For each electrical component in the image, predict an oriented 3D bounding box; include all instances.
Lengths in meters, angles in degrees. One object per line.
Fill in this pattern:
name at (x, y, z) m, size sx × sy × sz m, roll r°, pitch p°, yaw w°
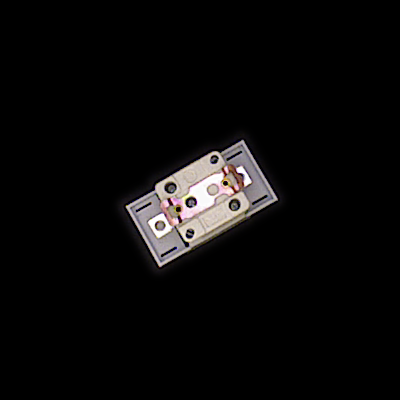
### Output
electrical component at (0.000, 0.000, 0.626) m, size 0.081 × 0.042 × 0.063 m, roll -30°, pitch -6°, yaw -3°
